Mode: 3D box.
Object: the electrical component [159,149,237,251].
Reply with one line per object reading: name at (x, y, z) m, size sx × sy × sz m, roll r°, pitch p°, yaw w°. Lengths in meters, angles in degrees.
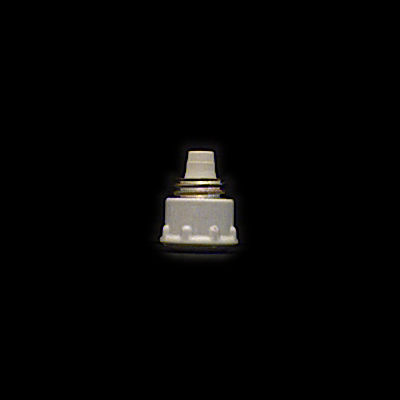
electrical component at (0.000, 0.000, 0.658) m, size 0.048 × 0.062 × 0.048 m, roll 2°, pitch 1°, yaw 1°
